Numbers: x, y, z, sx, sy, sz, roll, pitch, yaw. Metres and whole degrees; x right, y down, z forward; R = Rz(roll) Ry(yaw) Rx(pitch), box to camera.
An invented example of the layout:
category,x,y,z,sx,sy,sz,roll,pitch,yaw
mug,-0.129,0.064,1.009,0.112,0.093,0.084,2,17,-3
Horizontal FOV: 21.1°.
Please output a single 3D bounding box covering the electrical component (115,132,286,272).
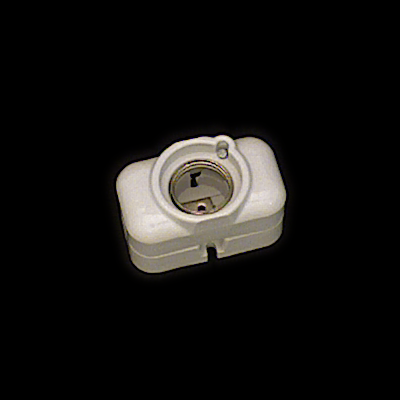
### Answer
category,x,y,z,sx,sy,sz,roll,pitch,yaw
electrical component,0.000,0.000,0.635,0.095,0.053,0.059,-14,-26,-7
